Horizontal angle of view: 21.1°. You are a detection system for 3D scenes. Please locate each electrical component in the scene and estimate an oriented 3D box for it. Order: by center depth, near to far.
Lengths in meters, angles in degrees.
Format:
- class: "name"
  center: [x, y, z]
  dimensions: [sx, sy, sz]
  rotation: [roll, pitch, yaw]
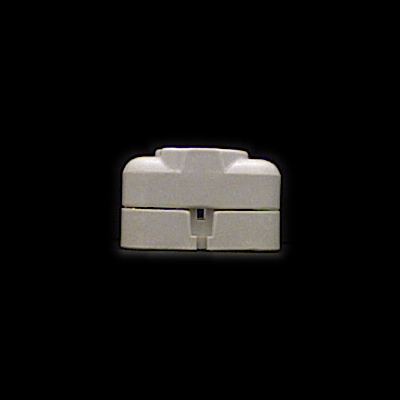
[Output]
- class: "electrical component"
  center: [0.000, 0.000, 0.655]
  dimensions: [0.095, 0.059, 0.053]
  rotation: [1, 1, -4]
